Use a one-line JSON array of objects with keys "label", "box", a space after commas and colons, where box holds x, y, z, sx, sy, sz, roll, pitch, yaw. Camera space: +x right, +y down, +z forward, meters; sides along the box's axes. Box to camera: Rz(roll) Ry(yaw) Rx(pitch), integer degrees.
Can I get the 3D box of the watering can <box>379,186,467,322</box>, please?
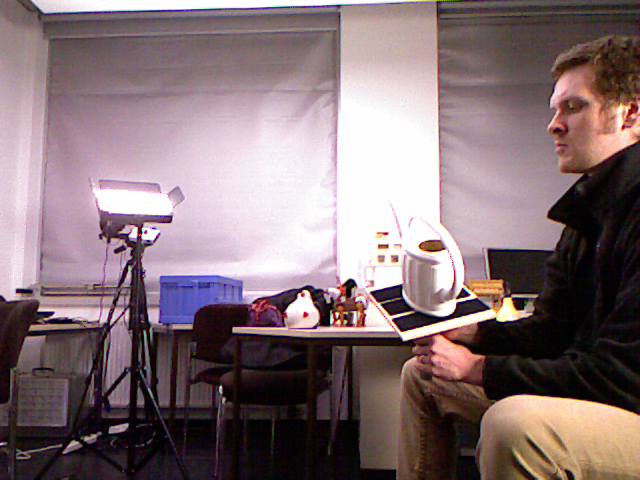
[{"label": "watering can", "box": [0.211, 0.029, 1.100, 0.104, 0.220, 0.354, -11, 29, -14]}]
